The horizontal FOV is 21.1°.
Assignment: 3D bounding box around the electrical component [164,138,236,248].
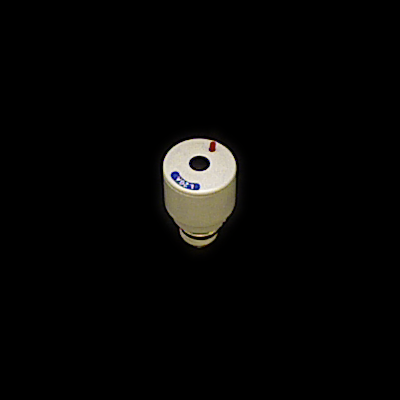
[{"bbox_3d":[0.000,0.000,0.622,0.040,0.040,0.079,0,-39,-1],"label":"electrical component"}]
